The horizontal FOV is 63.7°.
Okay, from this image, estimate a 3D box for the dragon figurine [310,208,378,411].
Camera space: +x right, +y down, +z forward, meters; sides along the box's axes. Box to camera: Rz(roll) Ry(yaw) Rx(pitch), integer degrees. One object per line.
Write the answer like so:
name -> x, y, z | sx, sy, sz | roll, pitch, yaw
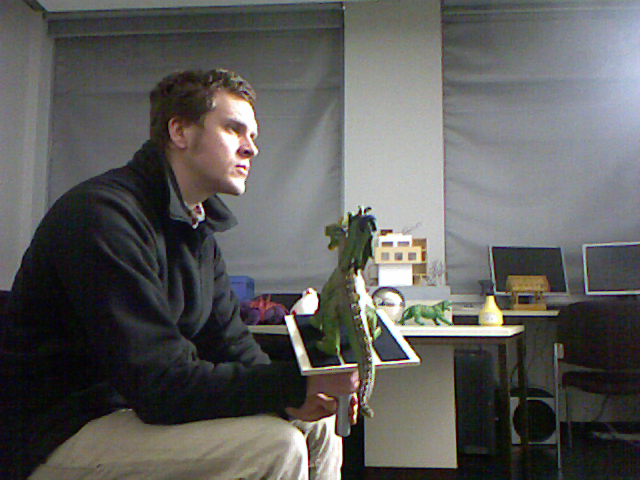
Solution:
dragon figurine -> 0.056, 0.067, 0.879 | 0.122, 0.239, 0.417 | 0, 21, -10
